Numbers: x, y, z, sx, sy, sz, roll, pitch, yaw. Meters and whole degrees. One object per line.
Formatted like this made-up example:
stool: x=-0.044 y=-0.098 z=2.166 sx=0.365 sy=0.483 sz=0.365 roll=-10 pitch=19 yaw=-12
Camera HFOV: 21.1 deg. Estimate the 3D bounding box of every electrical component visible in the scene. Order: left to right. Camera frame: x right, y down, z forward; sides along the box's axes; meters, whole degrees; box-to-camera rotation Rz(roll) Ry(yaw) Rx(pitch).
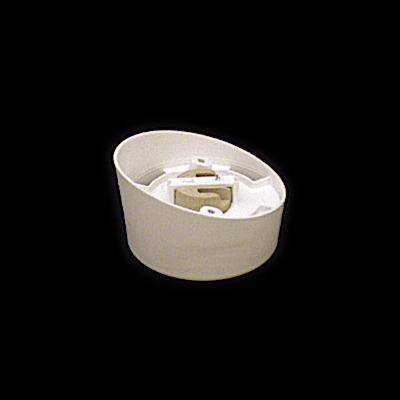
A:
electrical component: x=0.000 y=0.000 z=0.632 sx=0.099 sy=0.065 sz=0.097 roll=0 pitch=32 yaw=0
